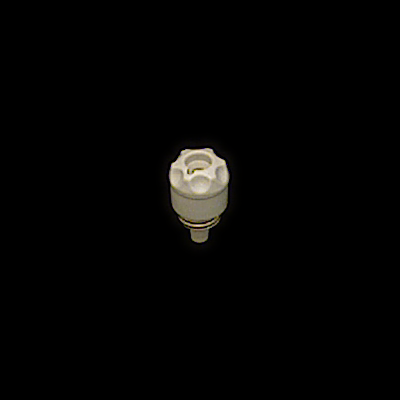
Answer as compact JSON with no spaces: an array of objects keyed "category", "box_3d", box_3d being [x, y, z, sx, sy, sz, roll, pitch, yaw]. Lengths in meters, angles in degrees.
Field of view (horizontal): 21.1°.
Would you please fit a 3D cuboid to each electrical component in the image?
[{"category":"electrical component","box_3d":[0.000,0.000,0.636,0.035,0.062,0.035,0,43,0]}]
